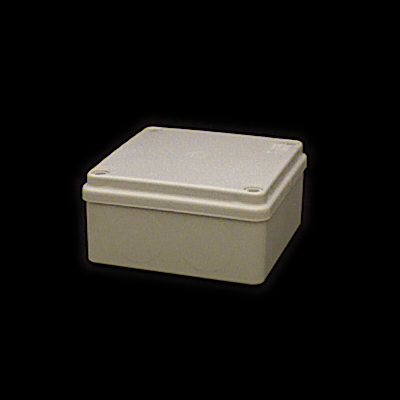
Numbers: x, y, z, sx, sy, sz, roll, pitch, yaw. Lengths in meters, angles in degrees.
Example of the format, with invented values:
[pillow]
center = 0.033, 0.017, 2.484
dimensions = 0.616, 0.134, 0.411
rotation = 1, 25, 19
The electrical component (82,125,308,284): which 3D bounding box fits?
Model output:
[electrical component]
center = 0.000, 0.000, 0.639
dimensions = 0.108, 0.057, 0.108
rotation = 7, 21, 16
